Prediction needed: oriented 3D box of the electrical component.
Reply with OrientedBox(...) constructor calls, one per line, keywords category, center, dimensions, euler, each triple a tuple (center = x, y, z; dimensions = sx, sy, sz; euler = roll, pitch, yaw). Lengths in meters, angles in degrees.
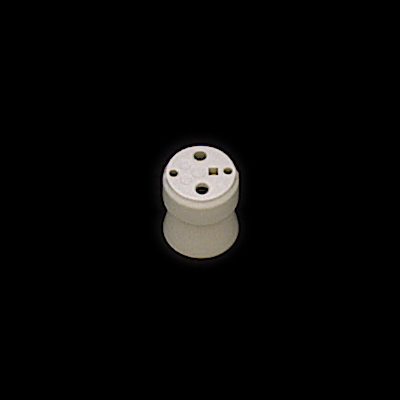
OrientedBox(category="electrical component", center=(0.000, 0.000, 0.629), dimensions=(0.045, 0.044, 0.055), euler=(0, -37, 0))
